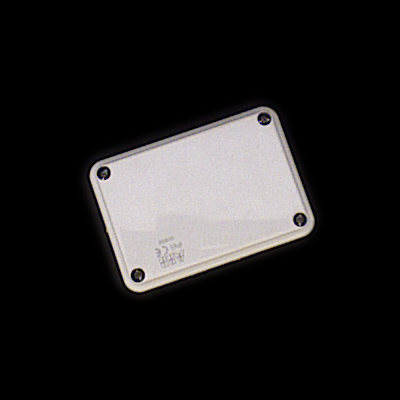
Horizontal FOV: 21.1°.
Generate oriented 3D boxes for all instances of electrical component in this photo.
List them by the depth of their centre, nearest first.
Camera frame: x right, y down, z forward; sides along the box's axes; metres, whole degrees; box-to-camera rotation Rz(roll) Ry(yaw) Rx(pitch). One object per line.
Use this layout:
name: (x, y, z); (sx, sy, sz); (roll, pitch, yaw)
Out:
electrical component: (0.000, 0.000, 0.627); (0.113, 0.078, 0.057); (-19, -6, -2)
